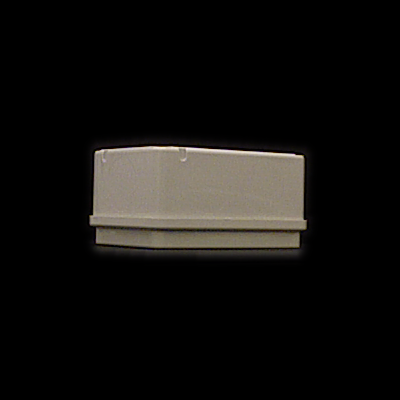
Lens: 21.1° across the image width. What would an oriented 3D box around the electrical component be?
[{"bbox_3d":[0.000,0.000,0.650,0.113,0.057,0.078,2,0,-35],"label":"electrical component"}]
